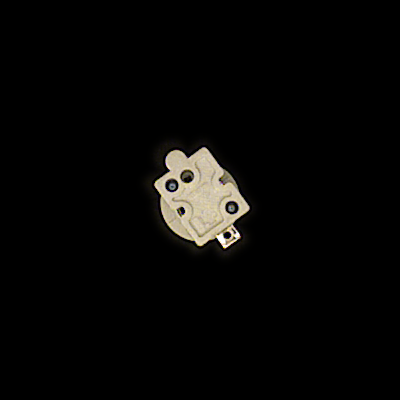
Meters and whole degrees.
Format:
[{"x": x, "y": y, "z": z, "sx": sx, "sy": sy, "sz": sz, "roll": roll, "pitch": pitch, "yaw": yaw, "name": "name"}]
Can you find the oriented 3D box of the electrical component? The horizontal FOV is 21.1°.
[{"x": 0.000, "y": 0.000, "z": 0.639, "sx": 0.048, "sy": 0.066, "sz": 0.055, "roll": -36, "pitch": -4, "yaw": -4, "name": "electrical component"}]
